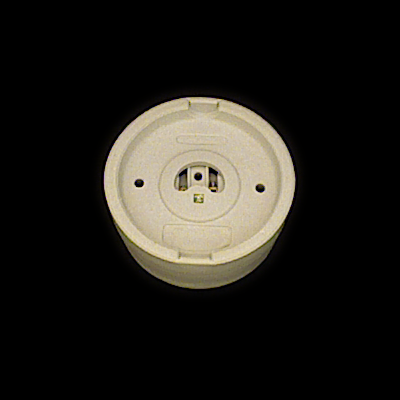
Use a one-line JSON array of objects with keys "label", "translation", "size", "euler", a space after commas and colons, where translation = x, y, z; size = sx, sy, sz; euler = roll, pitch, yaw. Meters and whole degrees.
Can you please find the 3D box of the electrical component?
[{"label": "electrical component", "translation": [0.000, 0.000, 0.632], "size": [0.108, 0.108, 0.060], "euler": [0, -27, 0]}]
